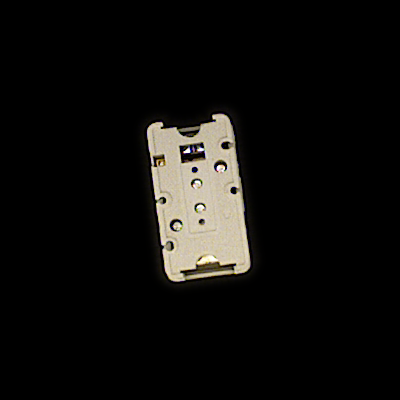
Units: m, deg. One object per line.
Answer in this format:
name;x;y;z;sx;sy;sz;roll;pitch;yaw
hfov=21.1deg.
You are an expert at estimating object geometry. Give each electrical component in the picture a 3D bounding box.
electrical component;0.000;0.000;0.637;0.050;0.090;0.055;-8;-7;0
